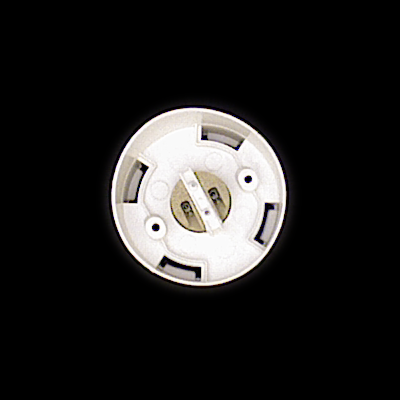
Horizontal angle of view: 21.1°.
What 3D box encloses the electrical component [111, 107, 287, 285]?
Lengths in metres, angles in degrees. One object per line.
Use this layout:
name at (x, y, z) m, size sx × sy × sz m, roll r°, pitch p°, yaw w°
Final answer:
electrical component at (0.000, 0.000, 0.624) m, size 0.099 × 0.099 × 0.064 m, roll 0°, pitch -7°, yaw 1°
